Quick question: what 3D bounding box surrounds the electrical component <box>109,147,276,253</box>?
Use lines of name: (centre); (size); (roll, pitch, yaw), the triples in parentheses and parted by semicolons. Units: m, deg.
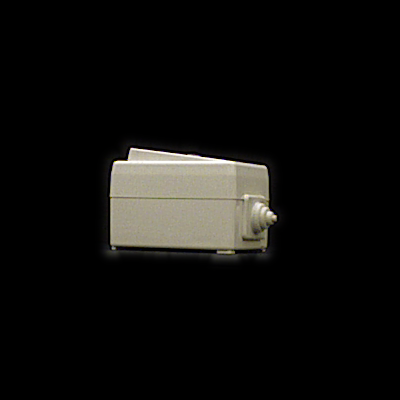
electrical component: (0.000, 0.000, 0.649); (0.096, 0.061, 0.062); (1, 0, 24)
